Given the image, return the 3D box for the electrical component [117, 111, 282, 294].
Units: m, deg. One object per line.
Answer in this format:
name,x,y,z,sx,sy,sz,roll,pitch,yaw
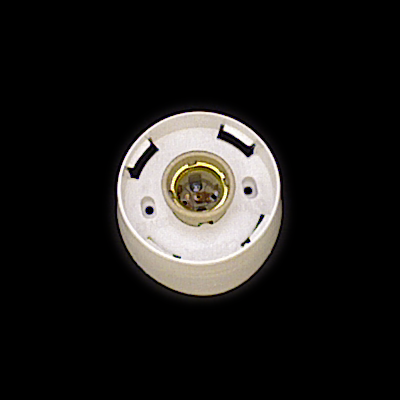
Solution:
electrical component,0.000,0.000,0.625,0.099,0.099,0.064,0,-16,0
